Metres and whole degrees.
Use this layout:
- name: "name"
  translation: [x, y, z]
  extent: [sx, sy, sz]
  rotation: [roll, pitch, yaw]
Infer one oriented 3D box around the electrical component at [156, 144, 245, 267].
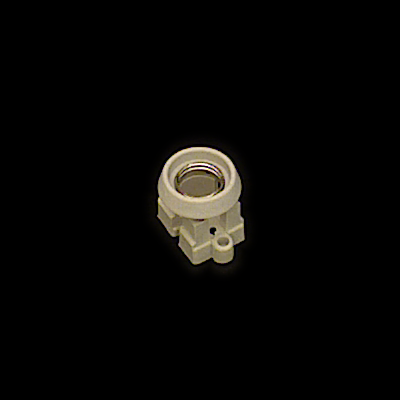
- name: "electrical component"
  translation: [0.000, 0.000, 0.638]
  extent: [0.049, 0.066, 0.055]
  rotation: [-27, -32, -21]
